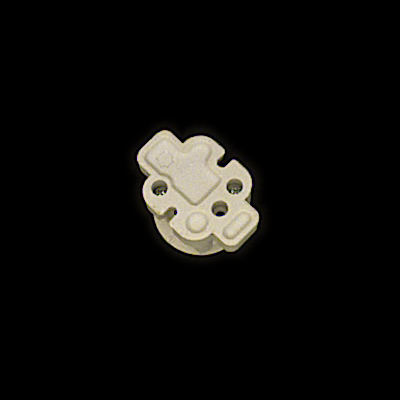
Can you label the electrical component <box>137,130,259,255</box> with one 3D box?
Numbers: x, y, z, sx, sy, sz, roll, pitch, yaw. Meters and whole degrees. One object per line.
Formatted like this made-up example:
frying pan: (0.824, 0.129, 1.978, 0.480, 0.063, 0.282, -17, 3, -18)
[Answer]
electrical component: (0.000, 0.000, 0.635, 0.078, 0.058, 0.056, 42, -11, 12)
